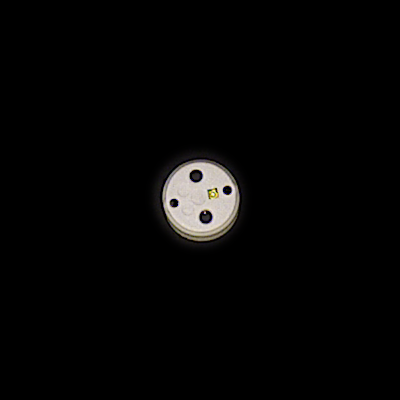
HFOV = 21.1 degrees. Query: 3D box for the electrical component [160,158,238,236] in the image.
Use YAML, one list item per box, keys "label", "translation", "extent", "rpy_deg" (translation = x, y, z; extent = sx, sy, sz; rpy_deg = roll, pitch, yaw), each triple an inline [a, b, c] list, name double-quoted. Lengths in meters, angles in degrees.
- label: "electrical component"
  translation: [0.000, 0.000, 0.629]
  extent: [0.045, 0.045, 0.055]
  rpy_deg: [0, -6, 1]
